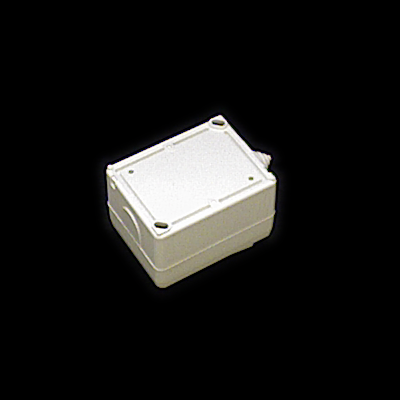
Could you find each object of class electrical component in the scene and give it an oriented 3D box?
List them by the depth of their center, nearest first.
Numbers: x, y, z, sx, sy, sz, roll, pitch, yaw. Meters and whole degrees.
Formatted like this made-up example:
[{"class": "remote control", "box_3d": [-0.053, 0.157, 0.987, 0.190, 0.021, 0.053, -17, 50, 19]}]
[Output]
[{"class": "electrical component", "box_3d": [0.001, 0.000, 0.631, 0.096, 0.061, 0.061, -26, -34, -19]}]
